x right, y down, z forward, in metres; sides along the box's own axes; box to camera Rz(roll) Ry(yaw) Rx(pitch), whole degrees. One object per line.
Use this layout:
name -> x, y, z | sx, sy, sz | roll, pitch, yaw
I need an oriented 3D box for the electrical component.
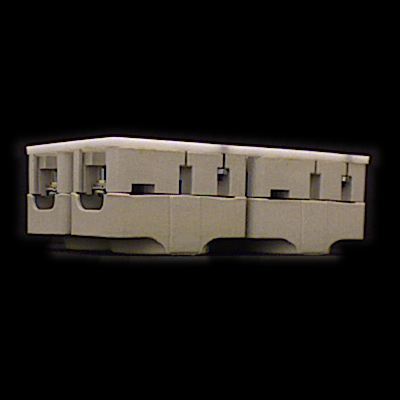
electrical component -> 0.000, 0.000, 0.649 | 0.187, 0.060, 0.105 | 2, -1, -35
